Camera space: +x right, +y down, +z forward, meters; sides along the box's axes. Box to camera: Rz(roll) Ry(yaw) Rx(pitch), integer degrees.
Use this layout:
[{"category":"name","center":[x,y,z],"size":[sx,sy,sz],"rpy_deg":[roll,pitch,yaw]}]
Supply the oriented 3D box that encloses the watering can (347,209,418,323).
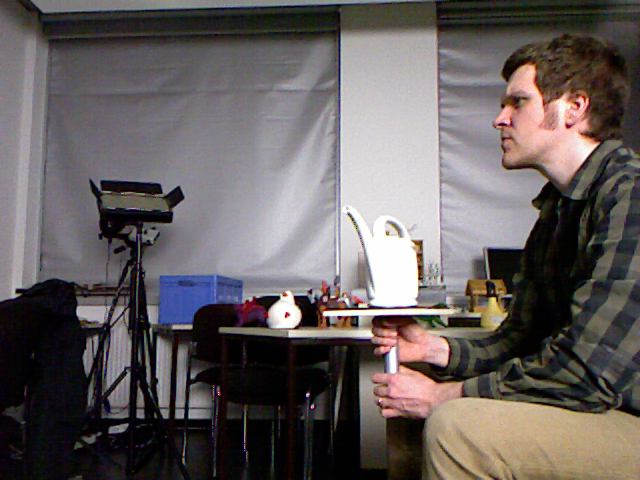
[{"category":"watering can","center":[0.129,0.055,1.039],"size":[0.104,0.226,0.346],"rpy_deg":[-3,-8,29]}]
